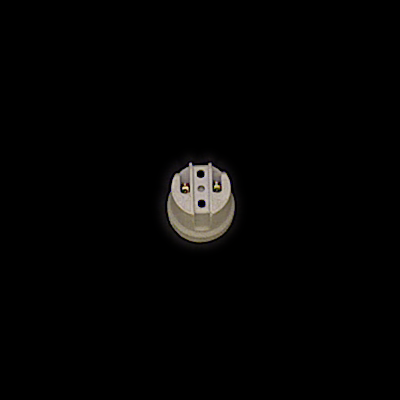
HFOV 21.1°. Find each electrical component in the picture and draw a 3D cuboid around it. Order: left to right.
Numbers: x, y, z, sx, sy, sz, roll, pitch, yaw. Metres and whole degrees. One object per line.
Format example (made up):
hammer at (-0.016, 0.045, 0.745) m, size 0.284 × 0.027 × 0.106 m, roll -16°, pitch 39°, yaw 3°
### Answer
electrical component at (0.000, 0.000, 0.634) m, size 0.040 × 0.040 × 0.046 m, roll 0°, pitch -16°, yaw 0°
